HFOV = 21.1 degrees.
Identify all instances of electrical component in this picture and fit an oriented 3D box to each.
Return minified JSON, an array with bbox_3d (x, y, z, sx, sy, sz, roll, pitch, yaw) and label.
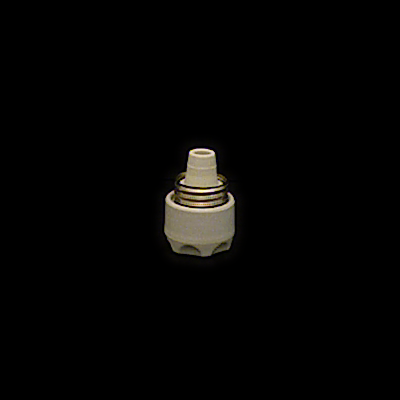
[{"bbox_3d":[0.000,0.000,0.646,0.043,0.063,0.043,2,21,0],"label":"electrical component"}]
